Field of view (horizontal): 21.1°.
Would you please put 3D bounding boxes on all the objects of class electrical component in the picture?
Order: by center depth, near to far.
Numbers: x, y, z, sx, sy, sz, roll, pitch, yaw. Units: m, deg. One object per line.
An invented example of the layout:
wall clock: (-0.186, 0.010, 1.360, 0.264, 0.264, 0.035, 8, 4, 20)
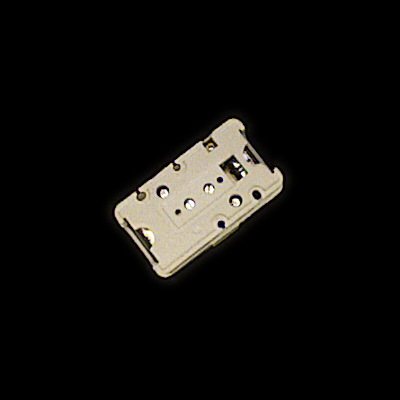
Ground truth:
electrical component: (0.000, 0.000, 0.637, 0.090, 0.050, 0.055, -38, -5, -4)
